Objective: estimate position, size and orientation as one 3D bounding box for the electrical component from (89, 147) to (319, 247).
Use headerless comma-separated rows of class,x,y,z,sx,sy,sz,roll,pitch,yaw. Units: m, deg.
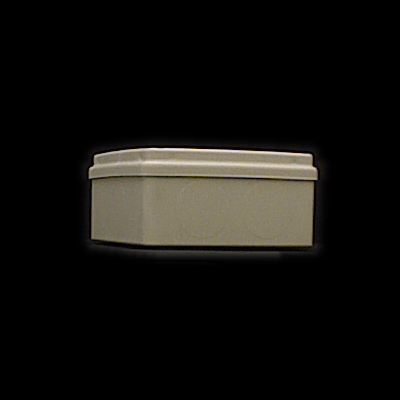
electrical component,0.000,0.000,0.648,0.109,0.056,0.108,1,0,-24
